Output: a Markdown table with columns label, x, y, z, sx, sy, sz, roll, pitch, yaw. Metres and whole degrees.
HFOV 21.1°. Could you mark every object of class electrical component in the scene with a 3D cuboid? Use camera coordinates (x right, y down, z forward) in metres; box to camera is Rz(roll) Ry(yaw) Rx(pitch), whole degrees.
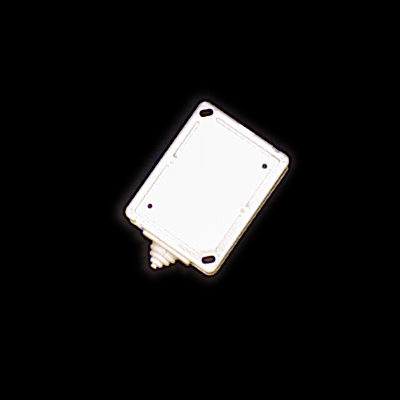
| label | x | y | z | sx | sy | sz | roll | pitch | yaw |
| --- | --- | --- | --- | --- | --- | --- | --- | --- | --- |
| electrical component | 0.000 | 0.000 | 0.629 | 0.062 | 0.096 | 0.061 | 35 | -5 | 4 |
